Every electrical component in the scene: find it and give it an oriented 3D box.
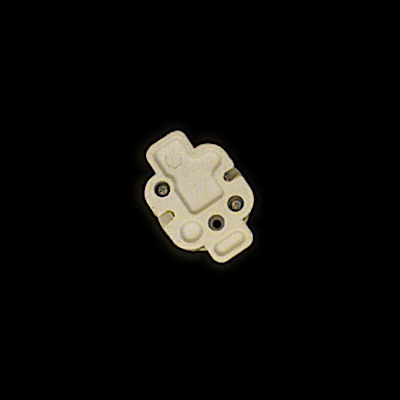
[{"bbox_3d":[0.000,0.000,0.637,0.058,0.078,0.056,-35,-6,-2],"label":"electrical component"}]
